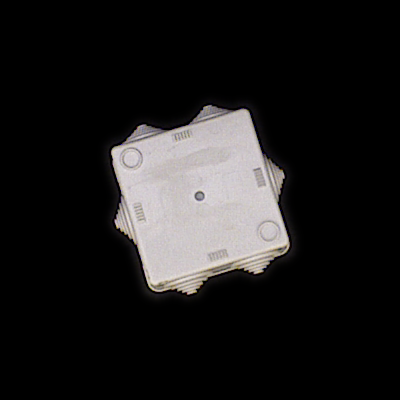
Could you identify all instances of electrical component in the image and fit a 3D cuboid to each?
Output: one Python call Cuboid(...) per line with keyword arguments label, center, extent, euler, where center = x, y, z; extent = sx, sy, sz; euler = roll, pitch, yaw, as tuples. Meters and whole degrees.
Cuboid(label="electrical component", center=(0.000, 0.000, 0.632), extent=(0.100, 0.100, 0.048), euler=(-17, -6, -2))
